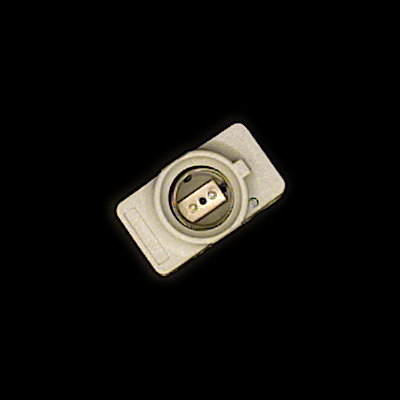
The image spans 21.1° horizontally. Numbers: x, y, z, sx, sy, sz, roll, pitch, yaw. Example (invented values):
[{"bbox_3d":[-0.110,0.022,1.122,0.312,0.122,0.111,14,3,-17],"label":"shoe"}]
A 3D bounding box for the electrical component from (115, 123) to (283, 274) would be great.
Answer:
[{"bbox_3d":[0.000,0.000,0.637,0.090,0.050,0.055,-35,-5,-3],"label":"electrical component"}]
